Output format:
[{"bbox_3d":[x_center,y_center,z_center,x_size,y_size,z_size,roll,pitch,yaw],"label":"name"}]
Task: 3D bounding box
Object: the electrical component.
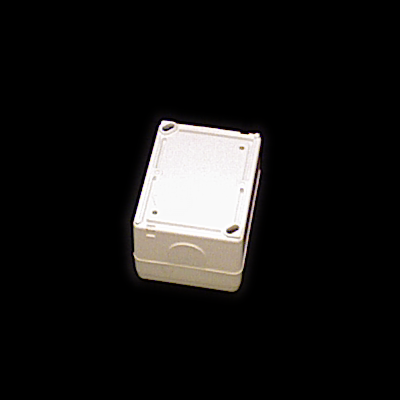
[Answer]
[{"bbox_3d":[0.000,0.000,0.630,0.062,0.096,0.061,8,-38,6],"label":"electrical component"}]
